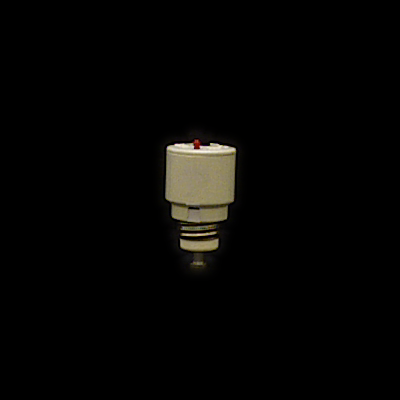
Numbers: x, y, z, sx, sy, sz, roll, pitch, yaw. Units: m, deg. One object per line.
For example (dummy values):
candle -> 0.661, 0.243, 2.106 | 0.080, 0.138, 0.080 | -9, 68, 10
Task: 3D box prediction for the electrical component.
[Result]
electrical component -> 0.000, 0.000, 0.639 | 0.040, 0.079, 0.040 | 1, 12, 0
